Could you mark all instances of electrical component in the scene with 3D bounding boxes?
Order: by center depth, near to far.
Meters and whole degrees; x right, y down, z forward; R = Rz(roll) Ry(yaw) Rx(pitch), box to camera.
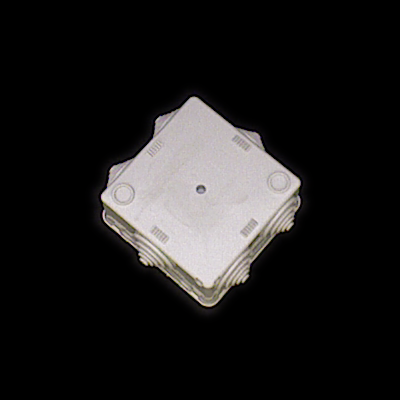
[{"bbox_3d":[0.000,0.000,0.631,0.100,0.100,0.048,39,-13,11],"label":"electrical component"}]
